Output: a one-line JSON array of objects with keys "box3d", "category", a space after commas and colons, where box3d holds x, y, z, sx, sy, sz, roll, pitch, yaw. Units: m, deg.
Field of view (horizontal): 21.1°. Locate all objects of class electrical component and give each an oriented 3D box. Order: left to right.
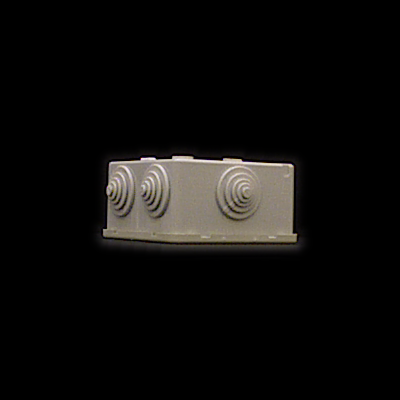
[{"box3d": [0.000, 0.000, 0.649, 0.100, 0.048, 0.099, 1, 0, -33], "category": "electrical component"}]
